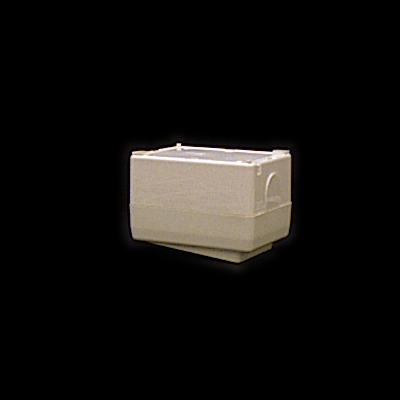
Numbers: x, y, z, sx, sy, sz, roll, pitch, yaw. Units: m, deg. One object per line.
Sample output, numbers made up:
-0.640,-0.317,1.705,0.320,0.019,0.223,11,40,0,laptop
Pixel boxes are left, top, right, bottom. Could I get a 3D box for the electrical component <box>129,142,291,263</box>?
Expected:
0.000,0.000,0.647,0.096,0.061,0.061,5,11,26,electrical component
